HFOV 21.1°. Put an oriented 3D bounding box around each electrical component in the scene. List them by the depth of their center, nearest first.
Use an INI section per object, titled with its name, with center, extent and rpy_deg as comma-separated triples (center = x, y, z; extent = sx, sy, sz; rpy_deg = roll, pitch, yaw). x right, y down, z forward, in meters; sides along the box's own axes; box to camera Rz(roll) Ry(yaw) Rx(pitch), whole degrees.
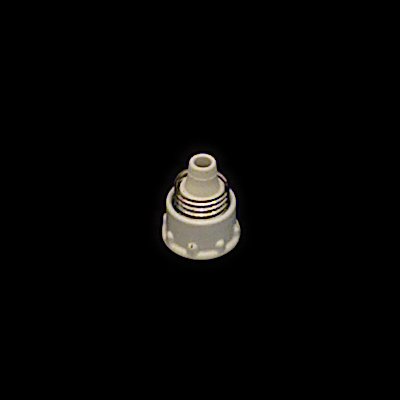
[electrical component]
center = 0.000, 0.000, 0.639
extent = 0.048, 0.062, 0.047
rpy_deg = 1, 42, -1
